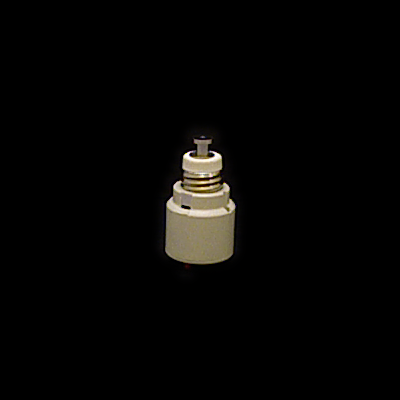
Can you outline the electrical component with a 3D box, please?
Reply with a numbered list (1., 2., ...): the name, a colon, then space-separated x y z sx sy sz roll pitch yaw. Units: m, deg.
1. electrical component: 0.000 0.000 0.636 0.040 0.079 0.039 2 21 0
